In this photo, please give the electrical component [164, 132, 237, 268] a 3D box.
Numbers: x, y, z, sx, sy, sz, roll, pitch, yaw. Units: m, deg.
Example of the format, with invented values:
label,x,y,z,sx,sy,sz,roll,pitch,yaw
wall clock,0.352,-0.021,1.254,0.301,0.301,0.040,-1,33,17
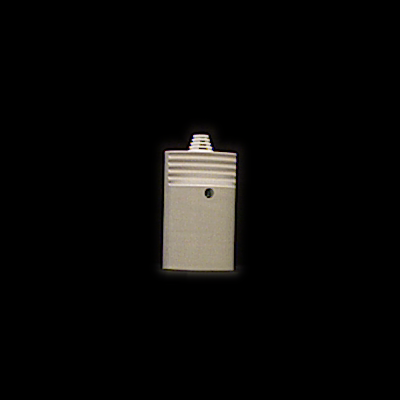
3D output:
label,x,y,z,sx,sy,sz,roll,pitch,yaw
electrical component,0.000,0.000,0.649,0.043,0.081,0.043,1,1,0
